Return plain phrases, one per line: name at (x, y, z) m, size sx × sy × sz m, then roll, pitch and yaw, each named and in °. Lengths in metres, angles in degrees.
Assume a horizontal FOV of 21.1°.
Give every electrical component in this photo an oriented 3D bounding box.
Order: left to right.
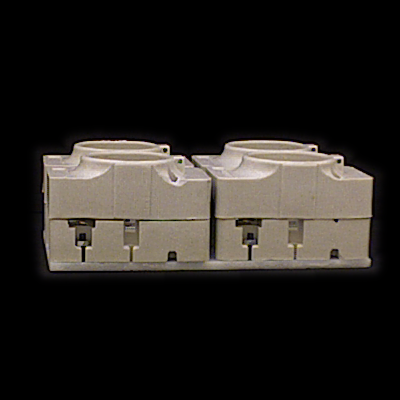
electrical component at (0.000, 0.000, 0.645) m, size 0.186 × 0.060 × 0.104 m, roll 0°, pitch 10°, yaw -10°
